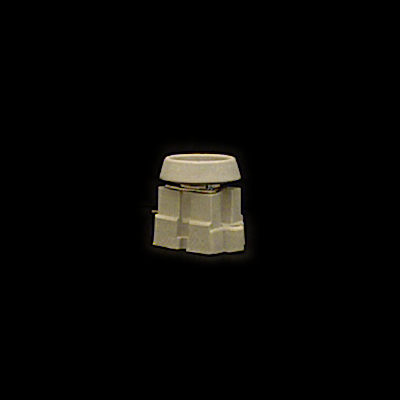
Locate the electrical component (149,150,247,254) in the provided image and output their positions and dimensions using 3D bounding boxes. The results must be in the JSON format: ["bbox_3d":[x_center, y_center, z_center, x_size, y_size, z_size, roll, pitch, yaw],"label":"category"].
[{"bbox_3d":[0.000,0.000,0.651,0.065,0.056,0.049,9,12,32],"label":"electrical component"}]
